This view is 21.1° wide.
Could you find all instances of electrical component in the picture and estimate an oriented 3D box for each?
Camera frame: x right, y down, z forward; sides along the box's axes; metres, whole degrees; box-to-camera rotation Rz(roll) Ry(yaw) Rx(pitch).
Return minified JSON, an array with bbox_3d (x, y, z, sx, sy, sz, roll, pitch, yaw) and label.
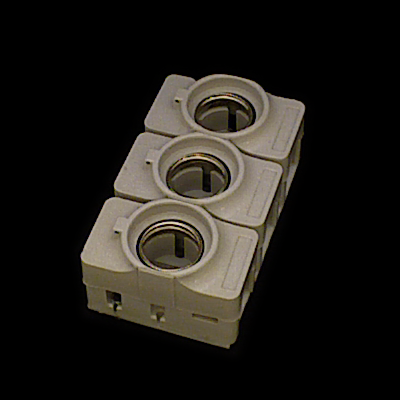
[{"bbox_3d":[0.000,0.000,0.633,0.089,0.148,0.062,14,-37,11],"label":"electrical component"}]
